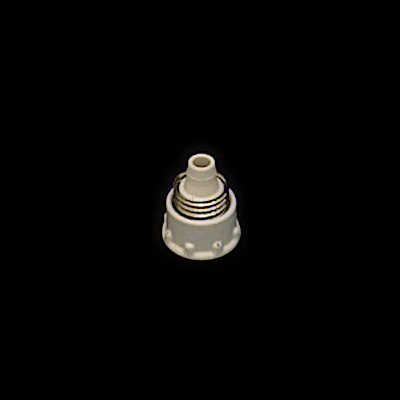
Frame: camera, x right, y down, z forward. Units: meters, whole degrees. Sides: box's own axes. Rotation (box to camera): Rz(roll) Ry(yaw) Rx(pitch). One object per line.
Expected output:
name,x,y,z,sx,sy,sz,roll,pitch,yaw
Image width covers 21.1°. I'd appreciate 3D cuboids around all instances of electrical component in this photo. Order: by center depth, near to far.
electrical component,0.000,0.000,0.639,0.048,0.062,0.047,1,42,0
